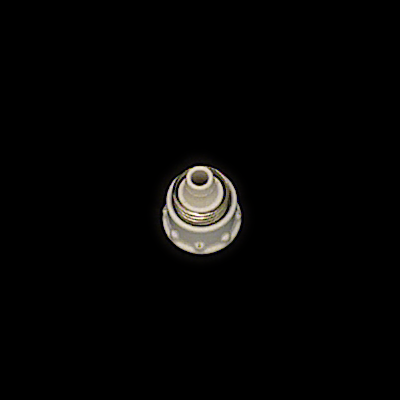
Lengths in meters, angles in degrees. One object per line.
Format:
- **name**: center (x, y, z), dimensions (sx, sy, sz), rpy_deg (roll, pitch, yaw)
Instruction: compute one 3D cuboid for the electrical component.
- **electrical component**: center (0.000, 0.000, 0.632), dimensions (0.048, 0.048, 0.062), rpy_deg (0, -26, 1)
